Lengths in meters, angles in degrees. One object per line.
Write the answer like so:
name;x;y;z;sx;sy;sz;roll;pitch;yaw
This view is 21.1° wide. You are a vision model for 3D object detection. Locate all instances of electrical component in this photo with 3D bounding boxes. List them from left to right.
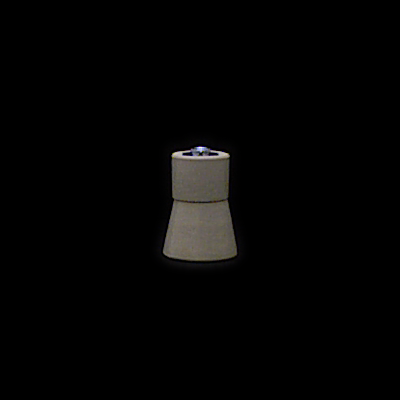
electrical component;0.000;0.000;0.644;0.044;0.066;0.044;0;11;0
